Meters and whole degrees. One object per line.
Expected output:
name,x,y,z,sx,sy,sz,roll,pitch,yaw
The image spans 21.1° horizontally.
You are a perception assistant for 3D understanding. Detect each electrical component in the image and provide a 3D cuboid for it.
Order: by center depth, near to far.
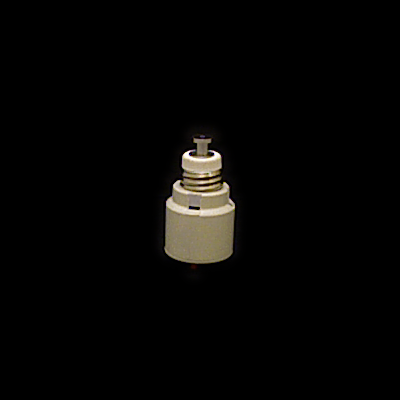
electrical component,0.000,0.000,0.636,0.040,0.079,0.039,2,21,0
